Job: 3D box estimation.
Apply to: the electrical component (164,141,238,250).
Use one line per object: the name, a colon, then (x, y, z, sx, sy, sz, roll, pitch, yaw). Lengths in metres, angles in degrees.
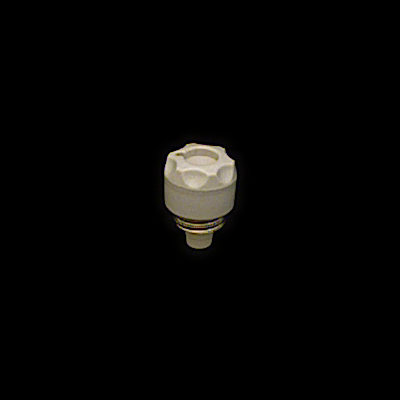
electrical component: (0.000, 0.000, 0.642, 0.043, 0.063, 0.043, 2, 32, 0)
